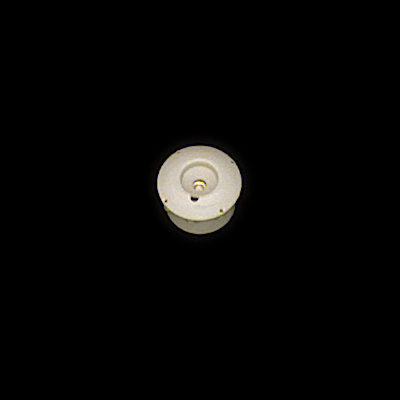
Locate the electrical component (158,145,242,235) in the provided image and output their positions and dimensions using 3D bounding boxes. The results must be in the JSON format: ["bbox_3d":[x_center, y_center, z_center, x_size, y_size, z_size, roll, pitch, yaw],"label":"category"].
[{"bbox_3d":[0.000,0.000,0.633,0.048,0.048,0.062,0,-26,0],"label":"electrical component"}]
